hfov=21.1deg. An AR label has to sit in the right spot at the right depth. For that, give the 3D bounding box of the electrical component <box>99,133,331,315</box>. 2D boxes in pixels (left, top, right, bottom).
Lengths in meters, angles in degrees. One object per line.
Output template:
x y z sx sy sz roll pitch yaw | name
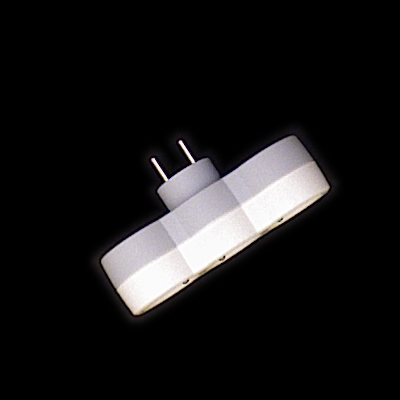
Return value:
0.000 0.000 0.631 0.138 0.074 0.052 -33 -7 -3 | electrical component
